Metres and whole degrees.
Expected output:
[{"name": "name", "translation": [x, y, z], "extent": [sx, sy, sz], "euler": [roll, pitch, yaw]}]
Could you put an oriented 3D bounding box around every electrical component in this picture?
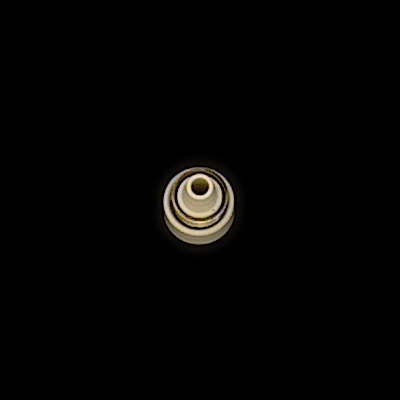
[{"name": "electrical component", "translation": [0.000, 0.000, 0.634], "extent": [0.043, 0.043, 0.061], "euler": [0, -16, -1]}]
